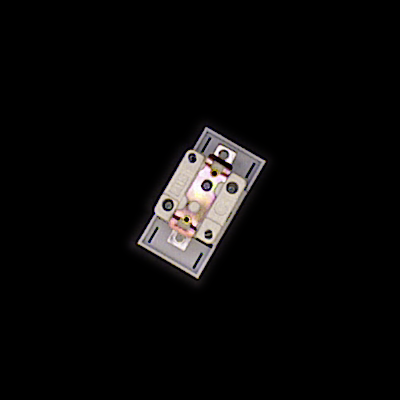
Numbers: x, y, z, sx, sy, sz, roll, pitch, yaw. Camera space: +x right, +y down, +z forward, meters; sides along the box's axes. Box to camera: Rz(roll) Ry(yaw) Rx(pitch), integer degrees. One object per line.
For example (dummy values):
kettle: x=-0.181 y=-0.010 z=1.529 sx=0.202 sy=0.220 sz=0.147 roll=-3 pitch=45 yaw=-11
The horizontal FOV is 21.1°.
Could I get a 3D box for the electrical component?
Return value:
electrical component: x=0.000 y=0.000 z=0.626 sx=0.042 sy=0.081 sz=0.063 roll=29 pitch=-6 yaw=3
